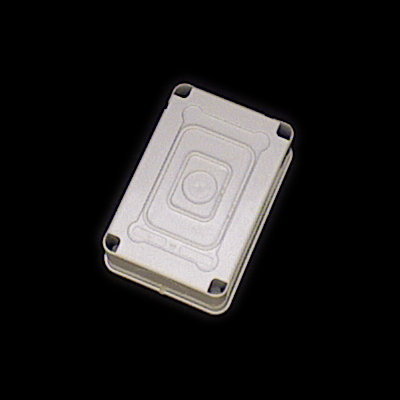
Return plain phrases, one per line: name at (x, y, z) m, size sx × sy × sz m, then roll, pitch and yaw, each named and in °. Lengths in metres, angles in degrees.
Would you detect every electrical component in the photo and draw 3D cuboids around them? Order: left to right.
electrical component at (0.000, 0.000, 0.627) m, size 0.078 × 0.113 × 0.057 m, roll 22°, pitch -15°, yaw 6°
